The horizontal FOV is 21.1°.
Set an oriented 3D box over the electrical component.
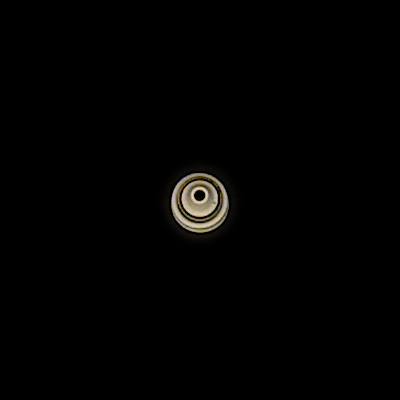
[{"bbox_3d":[0.000,0.000,0.638,0.035,0.035,0.061,0,-6,-1],"label":"electrical component"}]
